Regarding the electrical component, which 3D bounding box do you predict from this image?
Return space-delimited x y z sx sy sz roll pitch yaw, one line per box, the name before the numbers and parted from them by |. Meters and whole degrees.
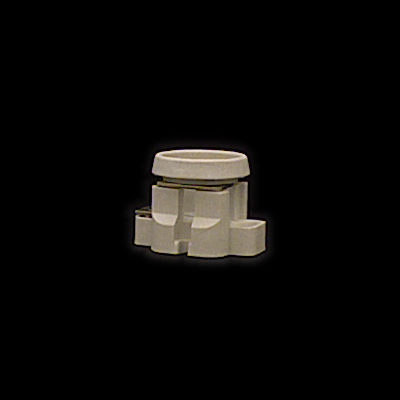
electrical component | 0.000 0.000 0.643 0.078 0.057 0.057 5 12 21
